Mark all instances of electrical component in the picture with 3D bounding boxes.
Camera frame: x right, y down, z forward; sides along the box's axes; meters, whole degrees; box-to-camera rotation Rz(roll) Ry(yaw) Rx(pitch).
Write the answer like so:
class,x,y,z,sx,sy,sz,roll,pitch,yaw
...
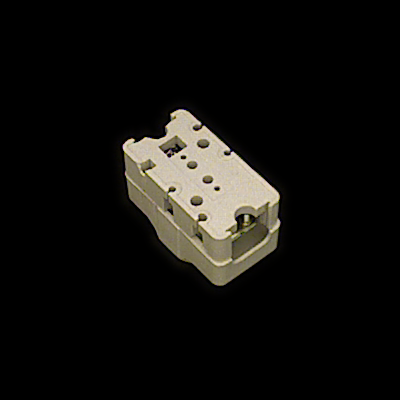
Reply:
class,x,y,z,sx,sy,sz,roll,pitch,yaw
electrical component,0.000,0.000,0.636,0.050,0.089,0.056,-34,-30,-22
